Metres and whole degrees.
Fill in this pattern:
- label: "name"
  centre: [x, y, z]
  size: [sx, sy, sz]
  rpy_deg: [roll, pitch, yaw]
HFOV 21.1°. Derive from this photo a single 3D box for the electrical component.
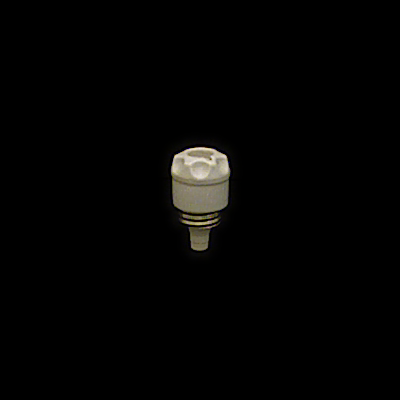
- label: "electrical component"
  centre: [0.000, 0.000, 0.643]
  size: [0.035, 0.062, 0.035]
  rpy_deg: [1, 22, 0]
